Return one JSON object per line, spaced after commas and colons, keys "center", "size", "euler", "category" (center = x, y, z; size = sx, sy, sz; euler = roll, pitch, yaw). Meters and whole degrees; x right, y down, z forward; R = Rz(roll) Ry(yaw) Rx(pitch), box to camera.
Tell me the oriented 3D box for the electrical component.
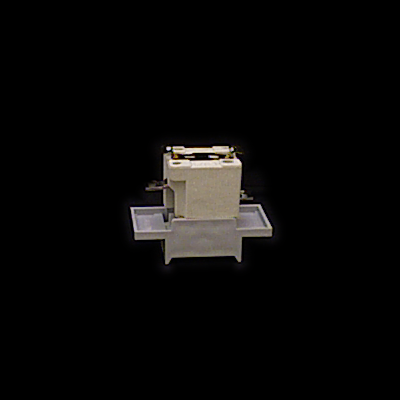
{"center": [0.000, 0.000, 0.639], "size": [0.081, 0.064, 0.041], "euler": [-2, 21, -8], "category": "electrical component"}
